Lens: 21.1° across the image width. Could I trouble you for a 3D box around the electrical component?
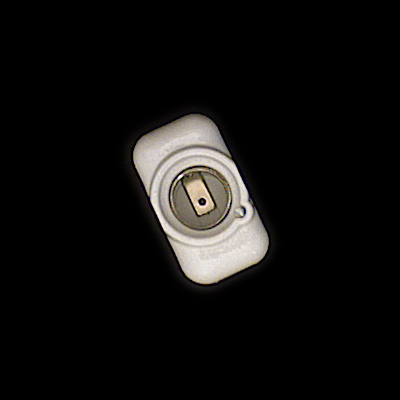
[{"bbox_3d":[0.000,0.000,0.635,0.054,0.095,0.059,-25,-5,-1],"label":"electrical component"}]
